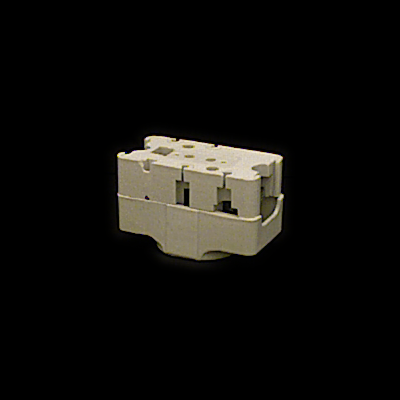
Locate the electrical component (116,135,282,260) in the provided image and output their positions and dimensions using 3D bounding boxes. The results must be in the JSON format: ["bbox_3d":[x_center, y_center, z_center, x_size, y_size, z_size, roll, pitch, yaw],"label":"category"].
[{"bbox_3d":[0.000,0.000,0.646,0.089,0.056,0.050,10,24,22],"label":"electrical component"}]
